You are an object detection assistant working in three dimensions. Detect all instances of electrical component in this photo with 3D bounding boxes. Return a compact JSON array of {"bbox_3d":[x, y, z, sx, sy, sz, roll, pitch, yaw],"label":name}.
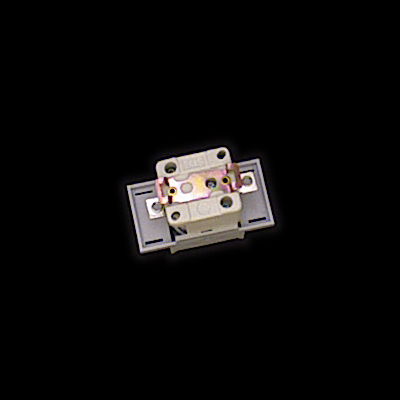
[{"bbox_3d":[0.000,0.000,0.625,0.081,0.042,0.063,-12,-16,-4],"label":"electrical component"}]
